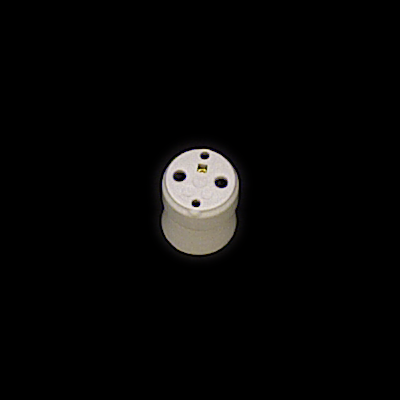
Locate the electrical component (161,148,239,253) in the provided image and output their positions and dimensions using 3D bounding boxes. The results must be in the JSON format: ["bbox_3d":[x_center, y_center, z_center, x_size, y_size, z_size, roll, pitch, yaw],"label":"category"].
[{"bbox_3d":[0.000,0.000,0.629,0.045,0.045,0.055,0,-27,-1],"label":"electrical component"}]
